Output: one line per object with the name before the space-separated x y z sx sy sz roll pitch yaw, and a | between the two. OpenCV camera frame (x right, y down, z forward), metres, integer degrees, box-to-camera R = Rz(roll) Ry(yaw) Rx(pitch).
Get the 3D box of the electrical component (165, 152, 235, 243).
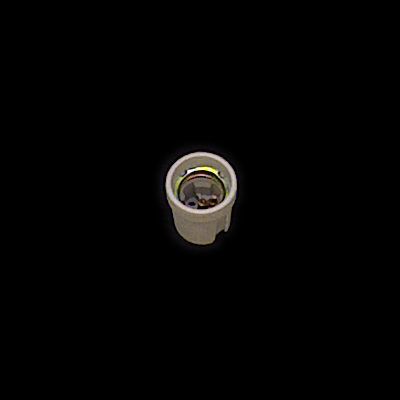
electrical component | 0.000 0.000 0.628 0.040 0.040 0.046 0 -28 0
